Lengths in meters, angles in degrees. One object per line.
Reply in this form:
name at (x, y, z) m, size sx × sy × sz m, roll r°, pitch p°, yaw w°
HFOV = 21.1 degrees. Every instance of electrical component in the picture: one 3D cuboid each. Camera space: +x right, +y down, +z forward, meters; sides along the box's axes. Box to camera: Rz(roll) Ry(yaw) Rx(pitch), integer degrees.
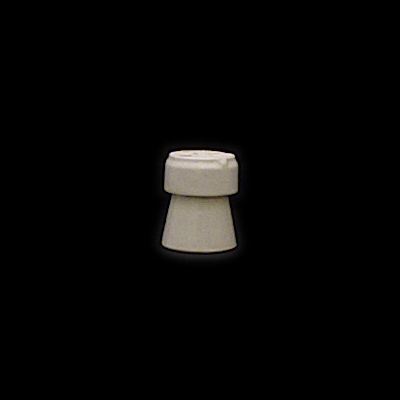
electrical component at (0.000, 0.000, 0.646) m, size 0.045 × 0.055 × 0.044 m, roll 2°, pitch 11°, yaw 0°
